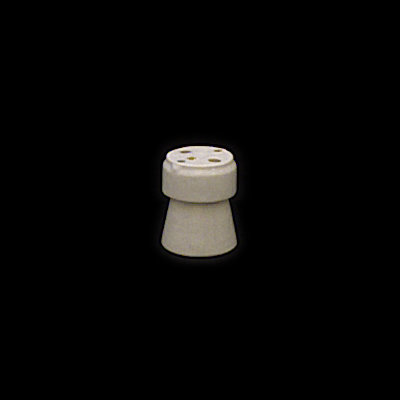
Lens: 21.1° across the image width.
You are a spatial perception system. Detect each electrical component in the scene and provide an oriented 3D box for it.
[{"bbox_3d":[0.000,0.000,0.640,0.045,0.056,0.044,1,21,0],"label":"electrical component"}]
